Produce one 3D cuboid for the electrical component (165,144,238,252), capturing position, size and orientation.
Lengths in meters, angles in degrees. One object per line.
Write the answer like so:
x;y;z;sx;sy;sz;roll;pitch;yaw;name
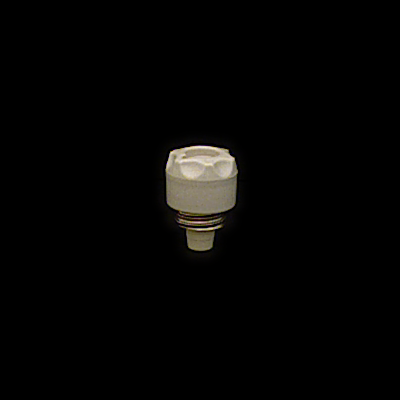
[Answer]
0.000;0.000;0.647;0.043;0.063;0.043;1;21;0;electrical component
